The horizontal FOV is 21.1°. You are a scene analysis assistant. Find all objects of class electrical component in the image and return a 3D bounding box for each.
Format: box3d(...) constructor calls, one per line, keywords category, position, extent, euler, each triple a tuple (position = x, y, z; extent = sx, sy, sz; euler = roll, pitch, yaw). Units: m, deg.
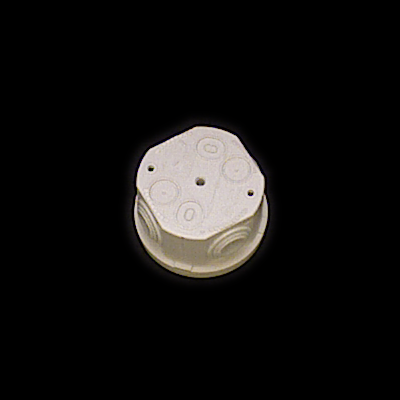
box3d(category="electrical component", position=(0.000, 0.000, 0.632), extent=(0.080, 0.080, 0.050), euler=(0, -27, 1))
